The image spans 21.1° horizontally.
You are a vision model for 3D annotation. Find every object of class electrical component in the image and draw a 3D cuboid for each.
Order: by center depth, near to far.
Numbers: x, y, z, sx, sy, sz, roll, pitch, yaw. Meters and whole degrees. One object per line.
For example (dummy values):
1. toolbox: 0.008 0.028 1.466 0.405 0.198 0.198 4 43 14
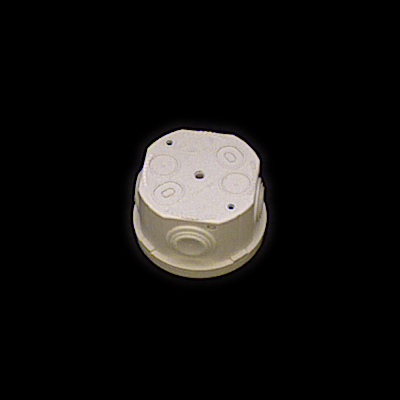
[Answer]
1. electrical component: 0.000 0.000 0.633 0.080 0.080 0.051 0 -38 0
